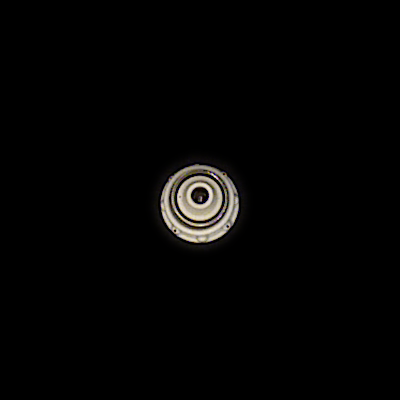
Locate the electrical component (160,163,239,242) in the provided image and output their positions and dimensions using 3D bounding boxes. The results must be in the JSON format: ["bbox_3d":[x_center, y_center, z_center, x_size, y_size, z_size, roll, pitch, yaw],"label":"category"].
[{"bbox_3d":[0.000,0.000,0.635,0.048,0.048,0.062,0,-5,-1],"label":"electrical component"}]
